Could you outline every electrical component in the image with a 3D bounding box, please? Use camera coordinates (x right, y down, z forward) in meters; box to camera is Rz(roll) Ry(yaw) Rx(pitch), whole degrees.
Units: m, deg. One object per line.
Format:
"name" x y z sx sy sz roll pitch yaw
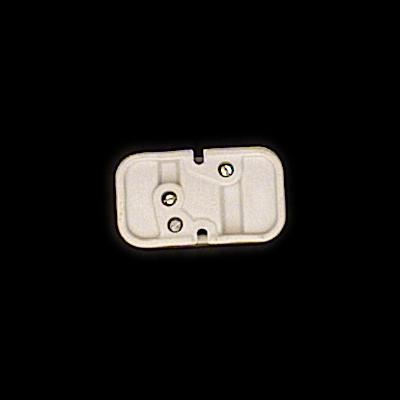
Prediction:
"electrical component" 0.000 0.000 0.637 0.095 0.054 0.059 -3 -6 0
